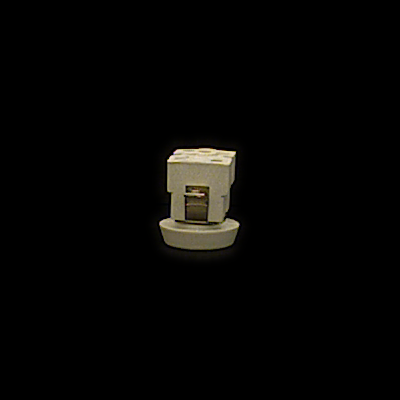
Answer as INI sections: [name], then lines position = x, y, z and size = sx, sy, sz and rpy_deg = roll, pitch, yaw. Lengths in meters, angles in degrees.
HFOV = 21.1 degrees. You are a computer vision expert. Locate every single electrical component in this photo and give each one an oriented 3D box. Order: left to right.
[electrical component]
position = 0.000, 0.000, 0.652
size = 0.048, 0.056, 0.066
rpy_deg = 4, 13, 6
